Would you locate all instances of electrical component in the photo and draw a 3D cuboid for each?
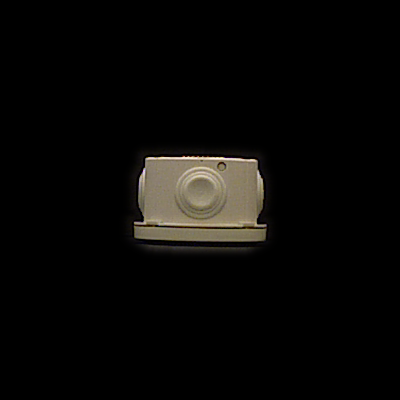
[{"bbox_3d":[0.000,0.000,0.649,0.080,0.051,0.080,1,1,0],"label":"electrical component"}]
